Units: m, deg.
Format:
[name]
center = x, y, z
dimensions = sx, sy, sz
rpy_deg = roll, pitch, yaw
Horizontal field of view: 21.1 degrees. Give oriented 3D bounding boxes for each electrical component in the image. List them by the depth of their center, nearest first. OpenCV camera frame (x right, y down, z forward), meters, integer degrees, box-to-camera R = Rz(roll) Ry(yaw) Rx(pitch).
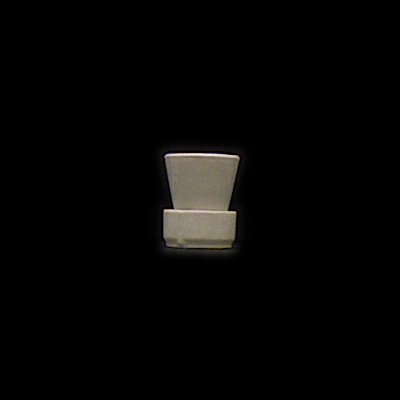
[electrical component]
center = 0.000, 0.000, 0.651
dimensions = 0.045, 0.055, 0.044
rpy_deg = 2, 2, 0
